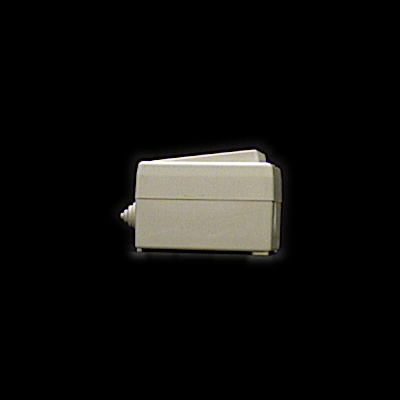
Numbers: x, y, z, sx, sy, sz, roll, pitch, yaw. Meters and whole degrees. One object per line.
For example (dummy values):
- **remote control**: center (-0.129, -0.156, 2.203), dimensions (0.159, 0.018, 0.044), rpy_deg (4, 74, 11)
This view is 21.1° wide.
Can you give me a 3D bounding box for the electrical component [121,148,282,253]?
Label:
- **electrical component**: center (0.000, 0.000, 0.650), dimensions (0.096, 0.061, 0.062), rpy_deg (1, 0, 9)
